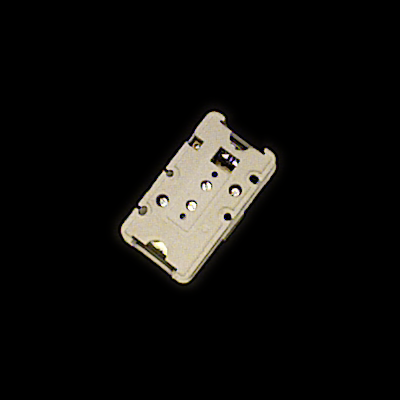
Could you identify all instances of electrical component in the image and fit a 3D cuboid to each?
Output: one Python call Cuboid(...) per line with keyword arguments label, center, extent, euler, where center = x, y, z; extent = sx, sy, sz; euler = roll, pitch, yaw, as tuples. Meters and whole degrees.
Cuboid(label="electrical component", center=(0.000, 0.000, 0.637), extent=(0.050, 0.090, 0.055), euler=(37, -5, 4))
